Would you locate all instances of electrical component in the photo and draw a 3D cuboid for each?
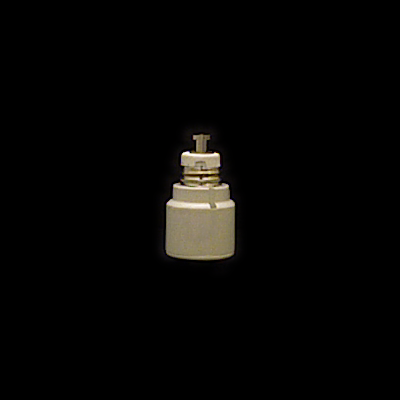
[{"bbox_3d":[0.000,0.000,0.641,0.040,0.079,0.040,0,10,0],"label":"electrical component"}]
